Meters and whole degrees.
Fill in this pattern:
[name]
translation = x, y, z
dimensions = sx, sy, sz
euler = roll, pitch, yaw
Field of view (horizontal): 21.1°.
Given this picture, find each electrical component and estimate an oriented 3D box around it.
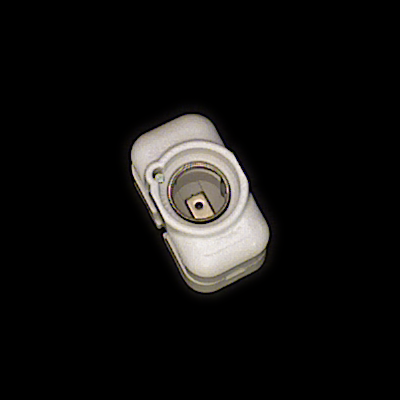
[electrical component]
translation = 0.000, 0.000, 0.634
dimensions = 0.054, 0.095, 0.059
euler = -27, -14, -7
